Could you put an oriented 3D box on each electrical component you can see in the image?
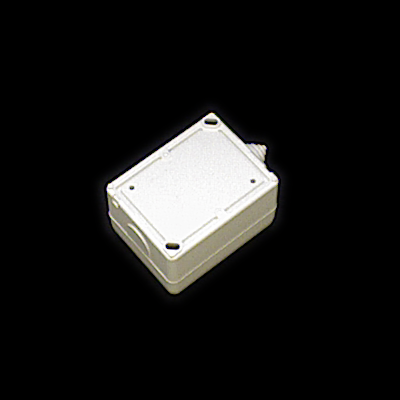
[{"bbox_3d":[0.001,0.000,0.629,0.096,0.061,0.061,-36,-23,-17],"label":"electrical component"}]
